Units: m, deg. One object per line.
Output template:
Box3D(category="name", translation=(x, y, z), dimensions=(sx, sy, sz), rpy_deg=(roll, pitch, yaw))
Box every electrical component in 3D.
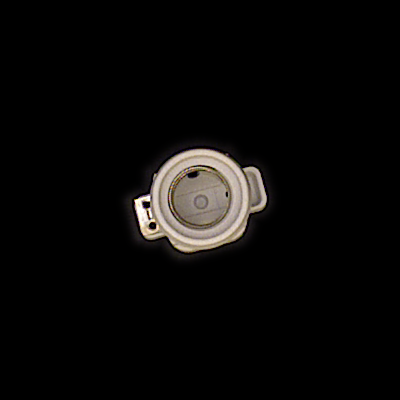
Box3D(category="electrical component", translation=(0.000, 0.000, 0.630), dimensions=(0.078, 0.058, 0.056), rpy_deg=(-15, -6, -1))
